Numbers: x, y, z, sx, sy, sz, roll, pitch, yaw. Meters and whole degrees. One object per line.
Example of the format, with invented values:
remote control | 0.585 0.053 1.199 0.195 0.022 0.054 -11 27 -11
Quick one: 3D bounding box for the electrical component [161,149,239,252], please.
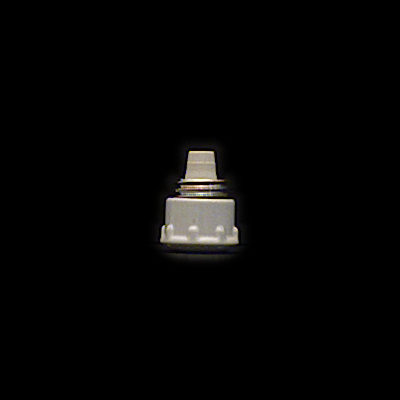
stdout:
electrical component | 0.000 0.000 0.655 0.048 0.062 0.048 1 3 0
